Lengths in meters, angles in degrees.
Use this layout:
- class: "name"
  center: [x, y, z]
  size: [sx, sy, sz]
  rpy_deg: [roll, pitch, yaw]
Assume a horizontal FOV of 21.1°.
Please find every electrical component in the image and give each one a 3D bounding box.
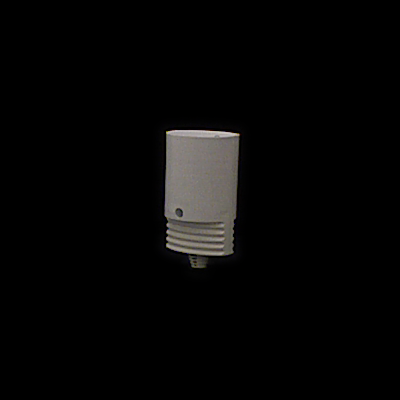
- class: "electrical component"
  center: [0.000, 0.000, 0.643]
  size: [0.043, 0.082, 0.042]
  rpy_deg: [1, 12, 0]
